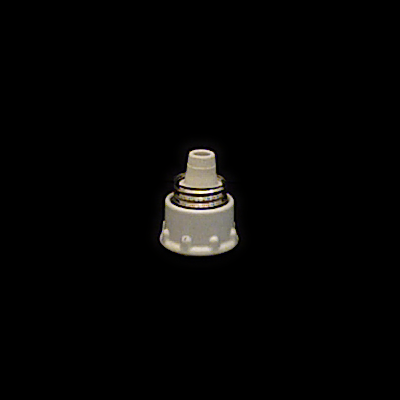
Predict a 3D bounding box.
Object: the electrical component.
[{"bbox_3d":[0.000,0.000,0.647,0.048,0.063,0.047,2,22,0],"label":"electrical component"}]
